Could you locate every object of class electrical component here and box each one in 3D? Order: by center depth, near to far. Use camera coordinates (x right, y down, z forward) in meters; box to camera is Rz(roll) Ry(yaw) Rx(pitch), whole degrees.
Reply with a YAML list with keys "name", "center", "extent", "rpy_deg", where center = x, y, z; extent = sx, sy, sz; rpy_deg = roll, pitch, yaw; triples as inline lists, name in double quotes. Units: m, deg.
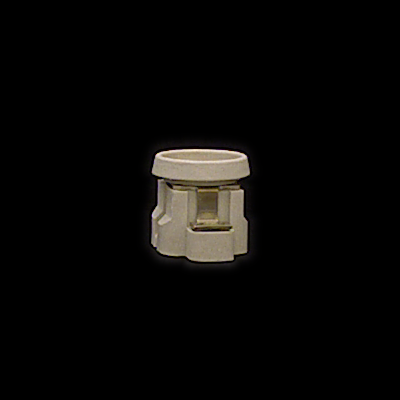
- name: "electrical component"
  center: [0.000, 0.000, 0.643]
  extent: [0.058, 0.057, 0.078]
  rpy_deg: [-1, 11, -13]
